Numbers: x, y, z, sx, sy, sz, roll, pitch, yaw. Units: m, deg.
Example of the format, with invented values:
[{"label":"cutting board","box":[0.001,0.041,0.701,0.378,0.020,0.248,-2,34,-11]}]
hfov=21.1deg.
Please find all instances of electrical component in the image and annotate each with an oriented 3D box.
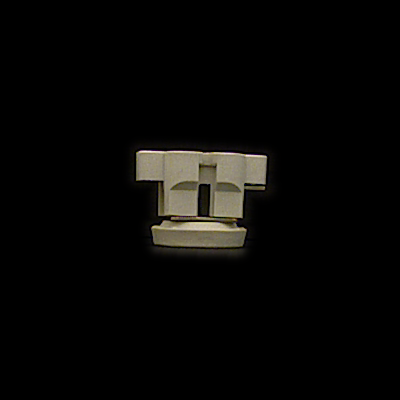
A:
[{"label":"electrical component","box":[0.000,0.000,0.658,0.079,0.057,0.057,3,0,-10]}]
